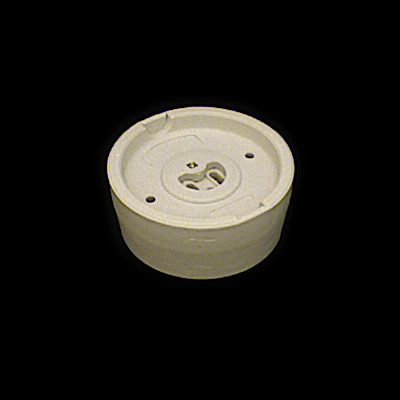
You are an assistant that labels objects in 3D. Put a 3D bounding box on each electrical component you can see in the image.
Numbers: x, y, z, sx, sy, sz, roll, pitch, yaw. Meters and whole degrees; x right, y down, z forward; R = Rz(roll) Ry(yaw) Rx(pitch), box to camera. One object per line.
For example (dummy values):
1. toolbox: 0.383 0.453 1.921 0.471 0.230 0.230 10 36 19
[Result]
1. electrical component: 0.000 0.000 0.639 0.108 0.061 0.107 1 43 0
